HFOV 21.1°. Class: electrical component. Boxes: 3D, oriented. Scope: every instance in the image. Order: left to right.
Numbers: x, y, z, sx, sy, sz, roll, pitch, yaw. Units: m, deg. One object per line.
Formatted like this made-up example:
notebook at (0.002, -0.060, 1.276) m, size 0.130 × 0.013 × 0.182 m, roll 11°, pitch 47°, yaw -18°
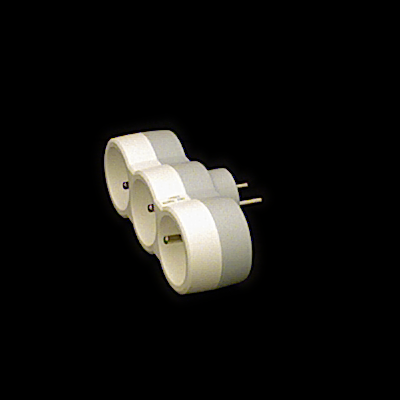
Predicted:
electrical component at (0.000, 0.000, 0.644) m, size 0.074 × 0.053 × 0.136 m, roll -12°, pitch 34°, yaw -22°
